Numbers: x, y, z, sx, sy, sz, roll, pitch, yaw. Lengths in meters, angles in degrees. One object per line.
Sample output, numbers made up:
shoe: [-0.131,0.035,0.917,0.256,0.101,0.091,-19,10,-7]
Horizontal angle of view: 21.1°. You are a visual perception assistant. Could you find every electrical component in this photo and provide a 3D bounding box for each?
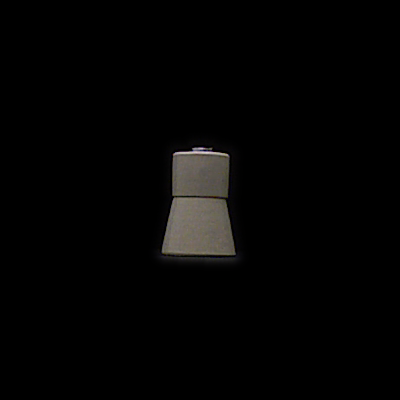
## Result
electrical component: [0.000,0.000,0.650,0.044,0.065,0.044,2,0,0]
